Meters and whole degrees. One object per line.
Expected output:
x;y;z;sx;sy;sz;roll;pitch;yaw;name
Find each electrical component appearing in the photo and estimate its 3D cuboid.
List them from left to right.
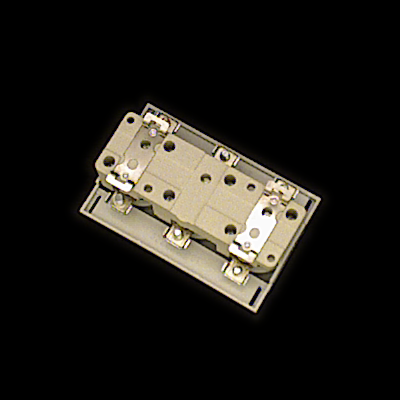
0.000;0.000;0.633;0.121;0.079;0.062;29;-13;8;electrical component
